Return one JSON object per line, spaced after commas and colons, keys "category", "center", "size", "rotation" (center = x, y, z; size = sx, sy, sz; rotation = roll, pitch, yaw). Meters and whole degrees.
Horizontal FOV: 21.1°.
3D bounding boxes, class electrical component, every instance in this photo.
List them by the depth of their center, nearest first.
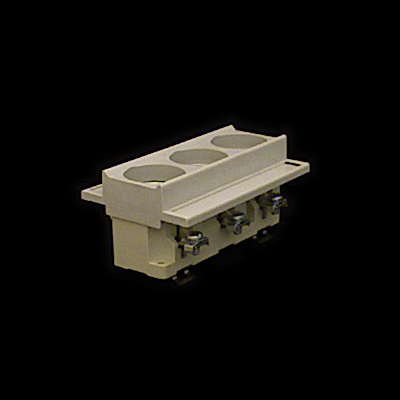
{"category": "electrical component", "center": [0.000, 0.000, 0.651], "size": [0.078, 0.064, 0.121], "rotation": [15, 25, 36]}
